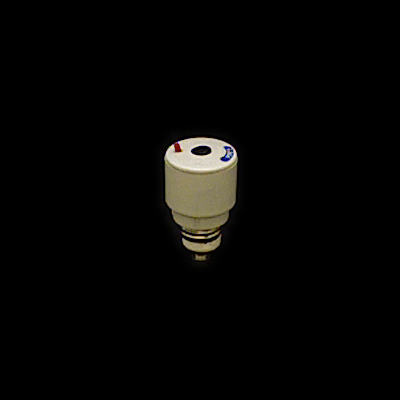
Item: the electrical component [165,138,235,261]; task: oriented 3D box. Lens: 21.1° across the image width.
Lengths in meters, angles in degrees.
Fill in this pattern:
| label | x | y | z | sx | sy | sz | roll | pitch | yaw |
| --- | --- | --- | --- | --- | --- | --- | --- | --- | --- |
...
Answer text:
| label | x | y | z | sx | sy | sz | roll | pitch | yaw |
| --- | --- | --- | --- | --- | --- | --- | --- | --- | --- |
| electrical component | 0.000 | 0.000 | 0.630 | 0.040 | 0.079 | 0.039 | 0 | 31 | 0 |
